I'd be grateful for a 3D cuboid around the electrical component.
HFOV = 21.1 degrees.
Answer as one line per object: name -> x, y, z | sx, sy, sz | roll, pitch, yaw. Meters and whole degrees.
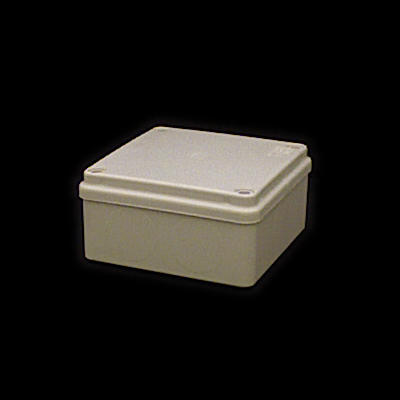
electrical component -> 0.000, 0.000, 0.639 | 0.108, 0.057, 0.108 | 9, 22, 20
